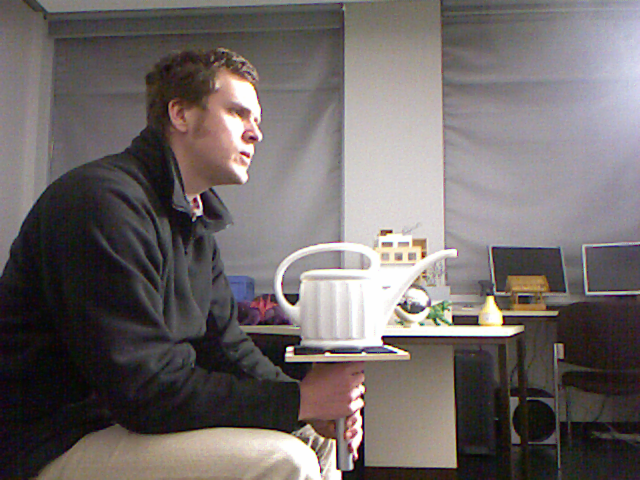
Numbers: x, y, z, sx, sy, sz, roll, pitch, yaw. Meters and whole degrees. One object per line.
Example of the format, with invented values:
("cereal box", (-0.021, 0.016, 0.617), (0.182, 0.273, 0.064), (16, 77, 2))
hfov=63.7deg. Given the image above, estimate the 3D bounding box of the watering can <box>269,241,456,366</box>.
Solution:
("watering can", (0.082, 0.114, 0.938), (0.348, 0.225, 0.104), (-1, -3, -3))
